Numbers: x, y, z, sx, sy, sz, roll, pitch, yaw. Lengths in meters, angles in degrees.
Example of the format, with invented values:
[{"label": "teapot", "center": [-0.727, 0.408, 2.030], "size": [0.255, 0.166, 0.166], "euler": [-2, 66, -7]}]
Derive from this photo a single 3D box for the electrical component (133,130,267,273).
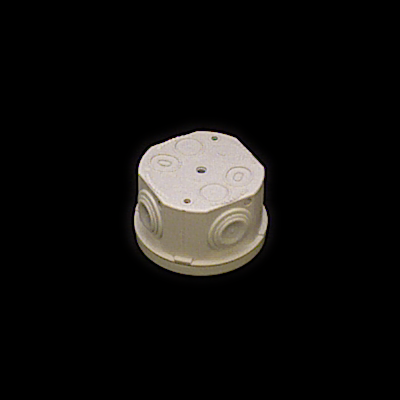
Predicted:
[{"label": "electrical component", "center": [0.000, 0.000, 0.635], "size": [0.080, 0.051, 0.079], "euler": [1, 42, 0]}]
